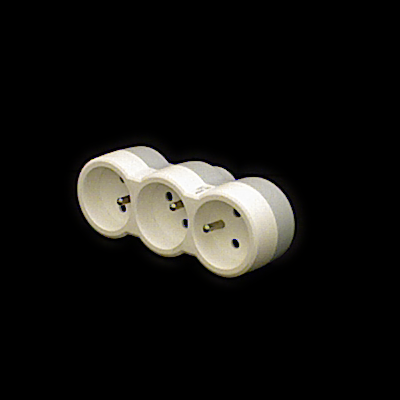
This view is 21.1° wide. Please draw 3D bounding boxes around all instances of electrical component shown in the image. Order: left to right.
[{"bbox_3d":[0.000,0.000,0.649,0.136,0.053,0.074,17,25,34],"label":"electrical component"}]
